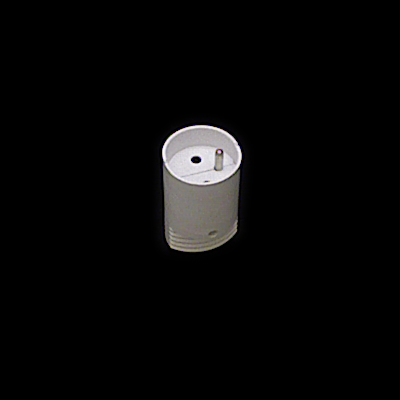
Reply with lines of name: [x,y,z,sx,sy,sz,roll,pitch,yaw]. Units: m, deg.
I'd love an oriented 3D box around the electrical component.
electrical component: [0.000,0.000,0.621,0.043,0.043,0.081,0,-38,-1]
